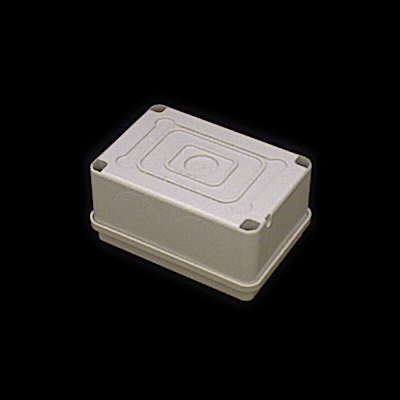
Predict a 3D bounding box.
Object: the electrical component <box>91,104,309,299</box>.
[{"bbox_3d":[0.000,0.000,0.632,0.112,0.057,0.078,22,46,22],"label":"electrical component"}]
